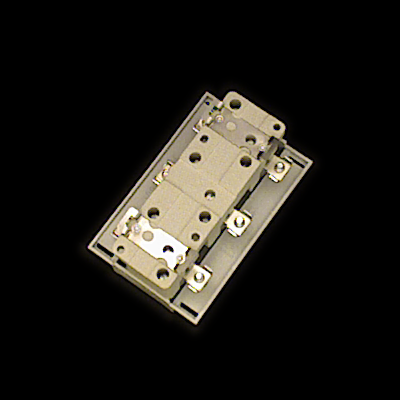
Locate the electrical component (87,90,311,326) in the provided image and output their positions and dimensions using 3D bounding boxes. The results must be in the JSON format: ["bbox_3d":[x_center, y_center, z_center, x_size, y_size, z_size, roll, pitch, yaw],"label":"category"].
[{"bbox_3d":[0.000,0.000,0.634,0.078,0.122,0.062,34,-13,10],"label":"electrical component"}]
